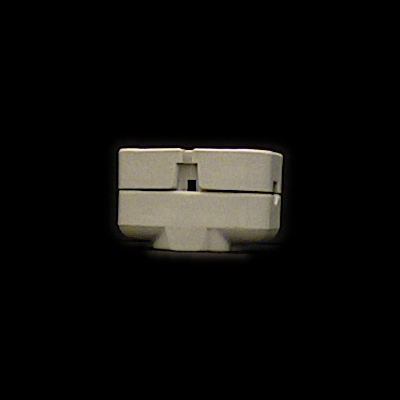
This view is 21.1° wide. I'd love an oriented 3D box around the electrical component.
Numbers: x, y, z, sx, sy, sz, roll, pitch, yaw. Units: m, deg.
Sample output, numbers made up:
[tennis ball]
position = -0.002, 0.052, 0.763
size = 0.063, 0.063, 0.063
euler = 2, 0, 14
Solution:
[electrical component]
position = 0.000, 0.000, 0.654
size = 0.095, 0.059, 0.054
euler = 2, 1, 17
